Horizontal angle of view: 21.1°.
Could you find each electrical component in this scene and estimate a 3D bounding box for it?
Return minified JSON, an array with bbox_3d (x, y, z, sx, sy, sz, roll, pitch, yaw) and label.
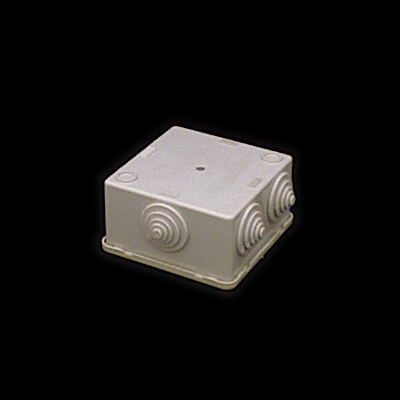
[{"bbox_3d":[0.000,0.000,0.638,0.099,0.049,0.099,17,35,23],"label":"electrical component"}]
